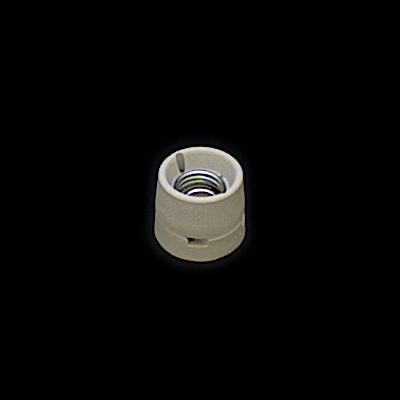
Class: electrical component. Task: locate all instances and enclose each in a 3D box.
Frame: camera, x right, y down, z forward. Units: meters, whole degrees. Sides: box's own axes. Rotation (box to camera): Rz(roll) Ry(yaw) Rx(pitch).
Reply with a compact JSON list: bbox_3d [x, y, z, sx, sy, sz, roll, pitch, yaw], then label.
[{"bbox_3d":[0.000,0.000,0.635,0.055,0.047,0.055,1,43,-1],"label":"electrical component"}]
